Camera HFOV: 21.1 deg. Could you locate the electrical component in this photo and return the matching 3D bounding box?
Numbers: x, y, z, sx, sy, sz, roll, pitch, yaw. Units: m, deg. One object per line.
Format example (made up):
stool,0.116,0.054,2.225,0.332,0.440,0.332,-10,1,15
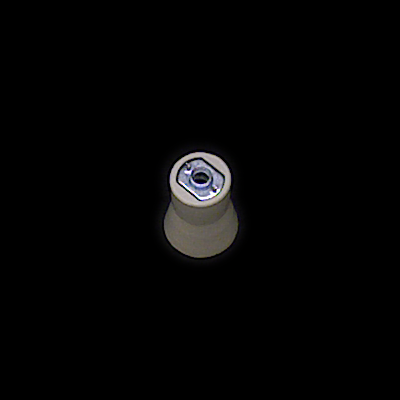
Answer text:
electrical component,0.000,0.000,0.624,0.044,0.044,0.065,0,-26,1
